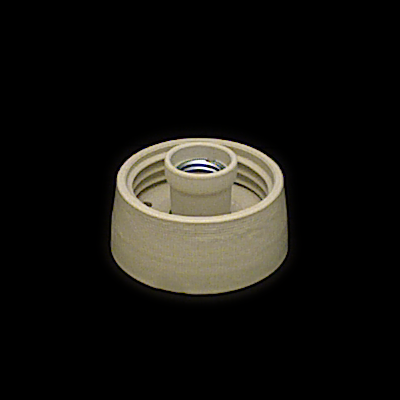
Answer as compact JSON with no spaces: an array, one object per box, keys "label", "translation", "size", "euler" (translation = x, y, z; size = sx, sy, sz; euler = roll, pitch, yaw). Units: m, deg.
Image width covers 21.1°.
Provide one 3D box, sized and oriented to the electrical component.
[{"label":"electrical component","translation":[0.000,0.000,0.639],"size":[0.108,0.061,0.106],"euler":[1,32,0]}]
